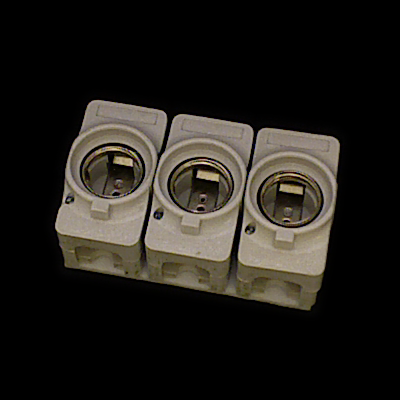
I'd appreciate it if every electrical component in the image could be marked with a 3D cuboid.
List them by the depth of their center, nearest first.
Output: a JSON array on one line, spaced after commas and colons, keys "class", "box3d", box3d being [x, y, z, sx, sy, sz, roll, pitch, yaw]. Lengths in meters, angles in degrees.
[{"class": "electrical component", "box3d": [0.000, 0.000, 0.631, 0.150, 0.089, 0.062, 9, -26, 5]}]
